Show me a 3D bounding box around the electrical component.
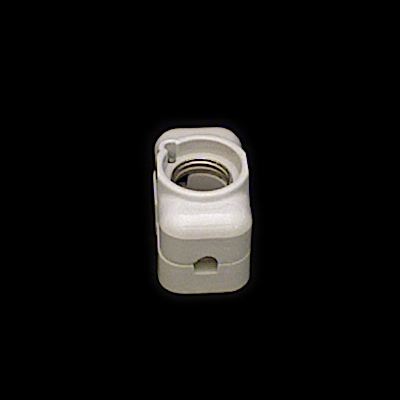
[{"bbox_3d":[0.000,0.000,0.637,0.054,0.060,0.094,-3,42,-4],"label":"electrical component"}]
